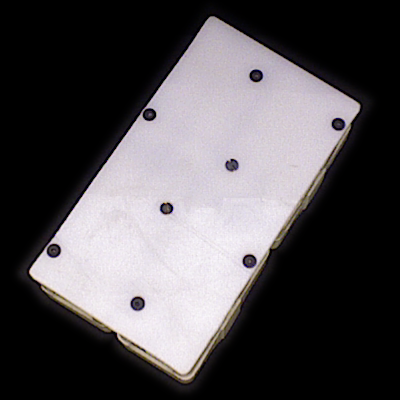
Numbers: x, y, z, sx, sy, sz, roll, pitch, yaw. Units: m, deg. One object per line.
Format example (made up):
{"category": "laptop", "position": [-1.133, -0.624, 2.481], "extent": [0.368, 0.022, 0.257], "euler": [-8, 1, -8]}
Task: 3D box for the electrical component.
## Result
{"category": "electrical component", "position": [0.000, 0.000, 0.625], "extent": [0.105, 0.187, 0.060], "euler": [32, -15, 9]}
